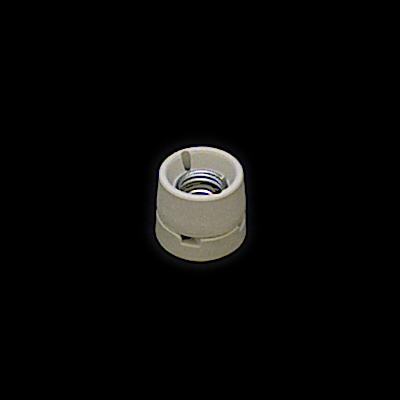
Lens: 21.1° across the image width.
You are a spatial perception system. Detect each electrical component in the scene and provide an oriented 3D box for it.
[{"bbox_3d":[0.000,0.000,0.637,0.055,0.047,0.055,0,41,0],"label":"electrical component"}]
